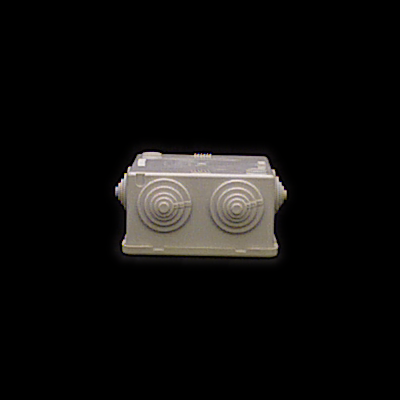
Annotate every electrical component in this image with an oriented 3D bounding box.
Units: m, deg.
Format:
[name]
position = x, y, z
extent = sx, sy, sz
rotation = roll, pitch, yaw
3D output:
[electrical component]
position = 0.000, 0.000, 0.645
extent = 0.100, 0.049, 0.099
rotation = 1, 10, 0
